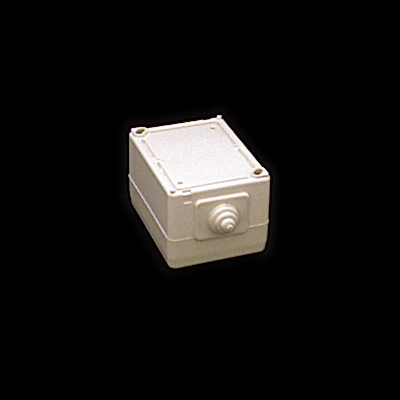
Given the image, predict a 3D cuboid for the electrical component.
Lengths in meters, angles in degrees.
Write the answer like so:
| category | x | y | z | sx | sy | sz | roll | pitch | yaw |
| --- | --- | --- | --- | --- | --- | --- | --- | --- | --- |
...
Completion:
| category | x | y | z | sx | sy | sz | roll | pitch | yaw |
| --- | --- | --- | --- | --- | --- | --- | --- | --- | --- |
| electrical component | 0.000 | 0.000 | 0.633 | 0.062 | 0.061 | 0.095 | -10 | 34 | -18 |
